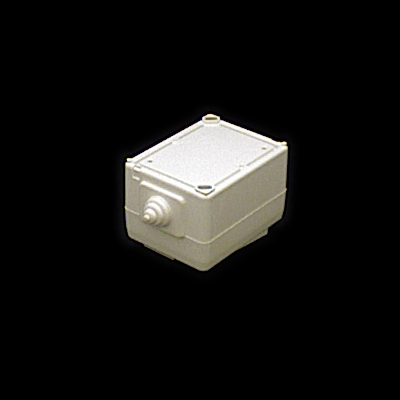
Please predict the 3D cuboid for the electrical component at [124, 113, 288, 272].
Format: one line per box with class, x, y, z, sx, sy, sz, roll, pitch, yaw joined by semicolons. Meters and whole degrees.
electrical component;0.000;0.000;0.628;0.061;0.061;0.096;23;37;31
